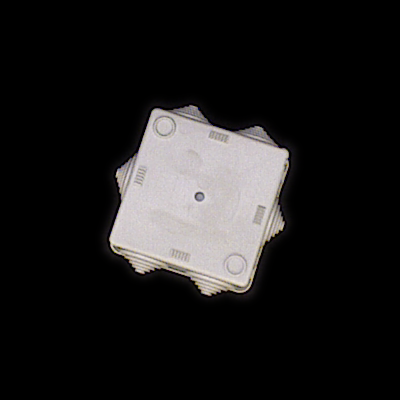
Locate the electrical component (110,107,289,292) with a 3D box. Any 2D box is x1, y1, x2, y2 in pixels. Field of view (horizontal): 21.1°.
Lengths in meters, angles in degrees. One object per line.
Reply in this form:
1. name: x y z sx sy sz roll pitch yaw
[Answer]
1. electrical component: 0.000 0.000 0.632 0.100 0.100 0.048 18 -6 2
